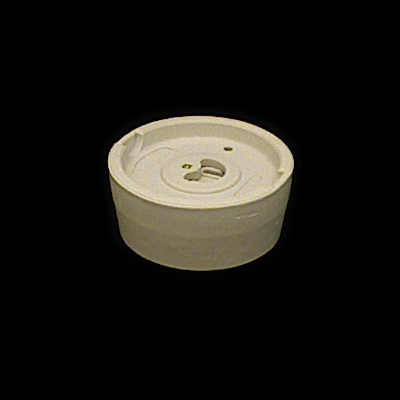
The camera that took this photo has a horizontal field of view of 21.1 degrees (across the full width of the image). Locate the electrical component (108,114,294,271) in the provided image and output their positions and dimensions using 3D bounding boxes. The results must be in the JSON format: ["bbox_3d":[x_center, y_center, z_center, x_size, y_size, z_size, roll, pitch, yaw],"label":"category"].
[{"bbox_3d":[0.000,0.000,0.640,0.108,0.061,0.106,2,32,0],"label":"electrical component"}]
